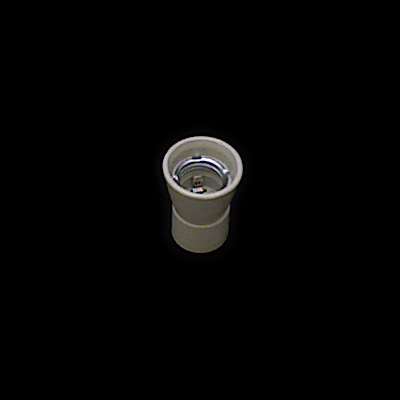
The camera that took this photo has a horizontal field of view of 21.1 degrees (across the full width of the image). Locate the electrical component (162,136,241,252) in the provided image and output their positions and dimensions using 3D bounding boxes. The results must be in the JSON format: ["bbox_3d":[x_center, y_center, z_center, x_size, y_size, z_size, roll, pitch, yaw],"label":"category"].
[{"bbox_3d":[0.000,0.000,0.627,0.044,0.044,0.065,0,-38,-2],"label":"electrical component"}]
